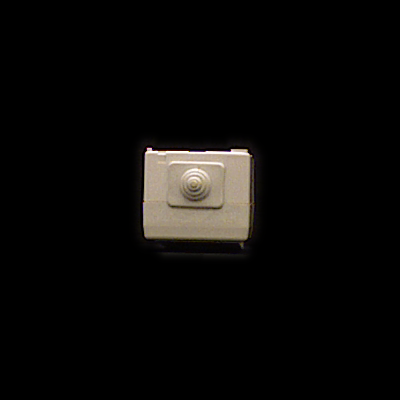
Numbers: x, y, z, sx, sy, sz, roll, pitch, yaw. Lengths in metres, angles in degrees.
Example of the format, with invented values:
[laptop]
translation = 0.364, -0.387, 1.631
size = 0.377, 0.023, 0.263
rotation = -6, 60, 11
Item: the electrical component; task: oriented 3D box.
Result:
[electrical component]
translation = 0.000, 0.000, 0.648
size = 0.062, 0.061, 0.096
rotation = 1, 1, 4
